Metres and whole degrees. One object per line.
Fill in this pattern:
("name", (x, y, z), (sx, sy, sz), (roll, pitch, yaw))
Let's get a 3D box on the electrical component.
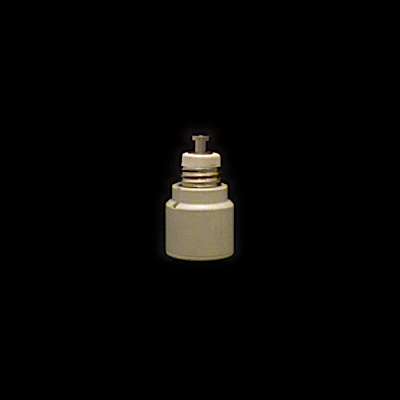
("electrical component", (0.000, 0.000, 0.643), (0.040, 0.079, 0.040), (1, 12, 0))
